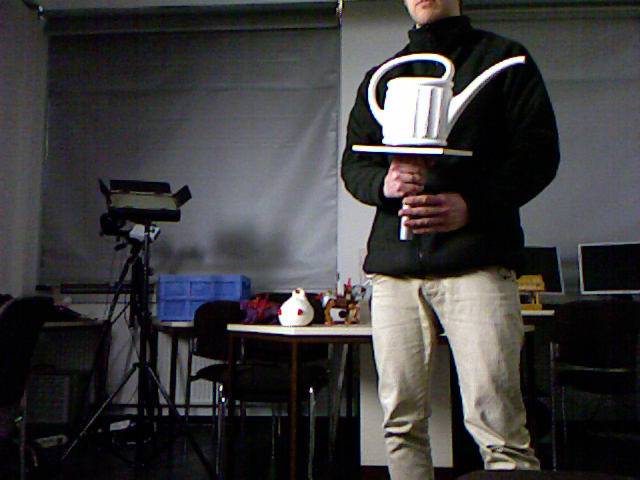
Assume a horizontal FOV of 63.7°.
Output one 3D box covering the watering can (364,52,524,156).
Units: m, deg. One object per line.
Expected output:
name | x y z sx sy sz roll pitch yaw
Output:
watering can | 0.253 -0.295 1.122 0.349 0.222 0.105 8 15 31
